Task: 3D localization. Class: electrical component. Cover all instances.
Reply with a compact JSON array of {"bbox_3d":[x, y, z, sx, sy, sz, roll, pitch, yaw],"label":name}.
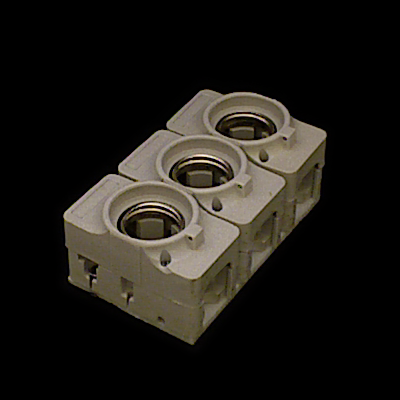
[{"bbox_3d":[0.000,0.000,0.636,0.089,0.063,0.148,24,47,23],"label":"electrical component"}]
